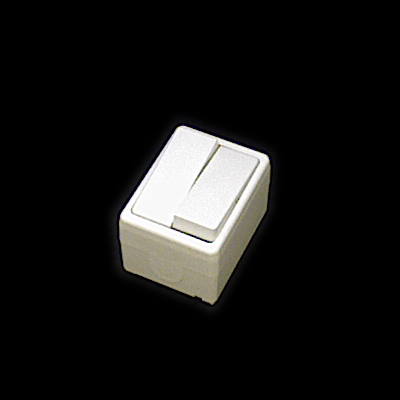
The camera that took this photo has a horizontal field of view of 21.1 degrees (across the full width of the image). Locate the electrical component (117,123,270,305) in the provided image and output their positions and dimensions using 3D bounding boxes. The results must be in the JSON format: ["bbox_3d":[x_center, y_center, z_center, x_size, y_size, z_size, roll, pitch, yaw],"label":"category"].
[{"bbox_3d":[0.000,0.000,0.630,0.061,0.096,0.061,21,-35,15],"label":"electrical component"}]
